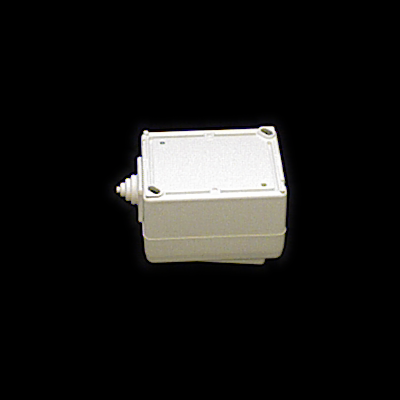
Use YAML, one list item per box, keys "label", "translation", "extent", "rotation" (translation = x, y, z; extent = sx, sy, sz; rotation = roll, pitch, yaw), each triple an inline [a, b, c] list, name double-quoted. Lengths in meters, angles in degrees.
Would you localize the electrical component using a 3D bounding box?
- label: "electrical component"
  translation: [0.000, 0.000, 0.628]
  extent: [0.096, 0.061, 0.061]
  rotation: [-2, 42, -3]
